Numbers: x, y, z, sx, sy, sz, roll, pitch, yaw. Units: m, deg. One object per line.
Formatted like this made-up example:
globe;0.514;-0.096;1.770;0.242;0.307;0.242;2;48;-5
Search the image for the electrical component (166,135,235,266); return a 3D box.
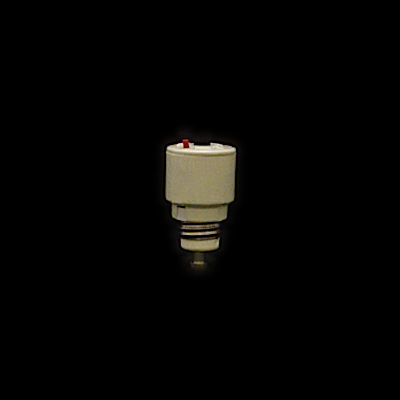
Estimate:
electrical component;0.000;0.000;0.641;0.040;0.079;0.040;1;12;0
